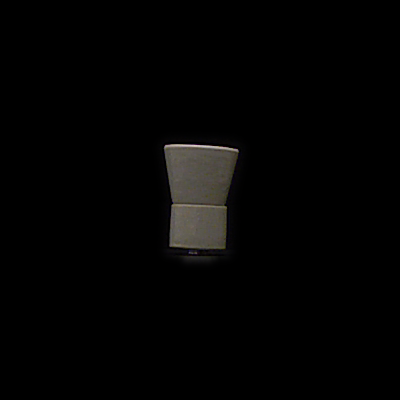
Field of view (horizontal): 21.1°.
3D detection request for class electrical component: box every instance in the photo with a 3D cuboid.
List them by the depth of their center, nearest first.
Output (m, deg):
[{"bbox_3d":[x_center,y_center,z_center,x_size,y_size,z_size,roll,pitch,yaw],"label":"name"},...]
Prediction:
[{"bbox_3d":[0.000,0.000,0.651,0.044,0.065,0.044,2,0,0],"label":"electrical component"}]
